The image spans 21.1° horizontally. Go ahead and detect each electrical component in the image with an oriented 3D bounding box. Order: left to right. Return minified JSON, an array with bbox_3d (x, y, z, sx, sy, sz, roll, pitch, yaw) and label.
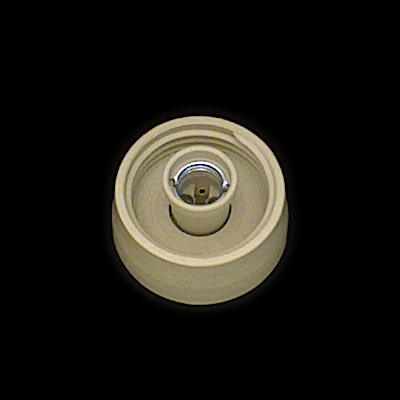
[{"bbox_3d":[0.000,0.000,0.634,0.108,0.108,0.060,0,-27,0],"label":"electrical component"}]
